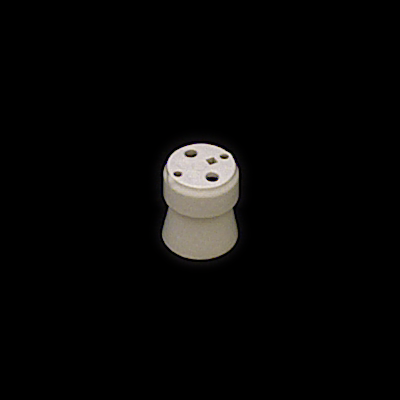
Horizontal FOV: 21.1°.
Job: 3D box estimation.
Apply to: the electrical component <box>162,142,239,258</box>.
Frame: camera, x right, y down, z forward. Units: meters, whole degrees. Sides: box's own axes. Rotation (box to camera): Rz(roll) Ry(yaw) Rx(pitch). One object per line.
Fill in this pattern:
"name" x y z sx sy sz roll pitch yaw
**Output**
"electrical component" 0.000 0.000 0.631 0.045 0.055 0.044 0 43 0
